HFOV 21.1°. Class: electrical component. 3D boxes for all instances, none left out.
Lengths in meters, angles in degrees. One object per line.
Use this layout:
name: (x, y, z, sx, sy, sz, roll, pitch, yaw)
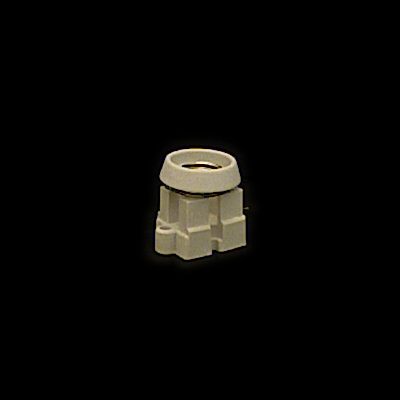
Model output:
electrical component: (0.000, 0.000, 0.648, 0.067, 0.056, 0.047, -13, 28, -32)
